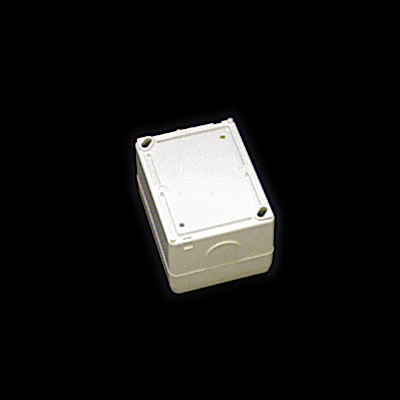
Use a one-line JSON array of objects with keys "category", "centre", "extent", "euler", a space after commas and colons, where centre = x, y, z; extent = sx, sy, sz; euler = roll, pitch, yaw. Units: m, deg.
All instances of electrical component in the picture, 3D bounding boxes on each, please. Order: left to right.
[{"category": "electrical component", "centre": [0.000, 0.000, 0.632], "extent": [0.062, 0.095, 0.061], "euler": [-13, -36, -10]}]
